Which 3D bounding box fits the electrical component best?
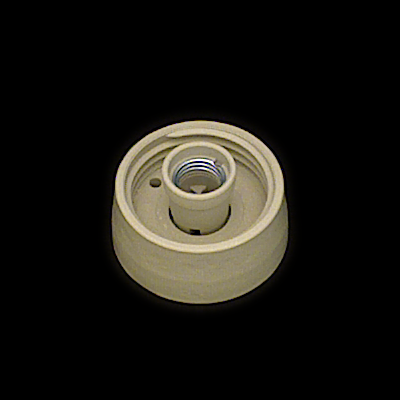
[{"bbox_3d":[0.000,0.000,0.636,0.108,0.107,0.060,0,-37,0],"label":"electrical component"}]
